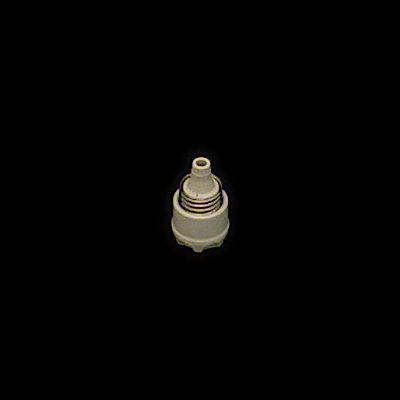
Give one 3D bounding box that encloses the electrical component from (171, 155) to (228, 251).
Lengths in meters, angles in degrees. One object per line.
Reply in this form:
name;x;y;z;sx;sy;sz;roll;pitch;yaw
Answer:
electrical component;0.000;0.000;0.644;0.035;0.062;0.034;1;44;0
